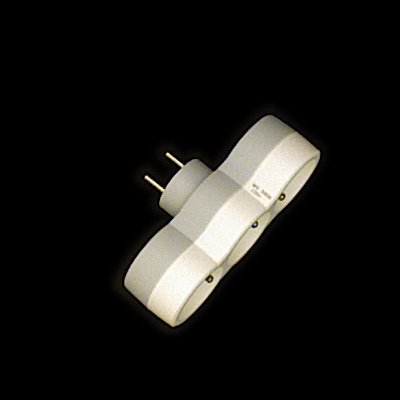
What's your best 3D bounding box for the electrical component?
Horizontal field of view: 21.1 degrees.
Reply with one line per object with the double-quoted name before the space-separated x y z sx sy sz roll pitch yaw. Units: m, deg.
"electrical component" 0.000 0.000 0.638 0.073 0.139 0.052 39 -13 12
